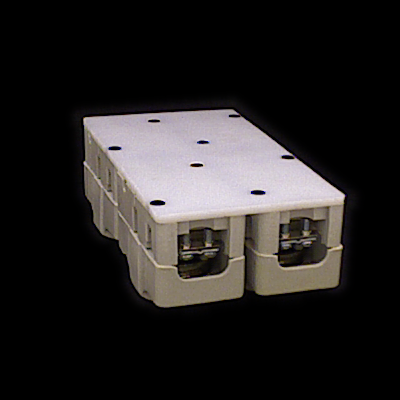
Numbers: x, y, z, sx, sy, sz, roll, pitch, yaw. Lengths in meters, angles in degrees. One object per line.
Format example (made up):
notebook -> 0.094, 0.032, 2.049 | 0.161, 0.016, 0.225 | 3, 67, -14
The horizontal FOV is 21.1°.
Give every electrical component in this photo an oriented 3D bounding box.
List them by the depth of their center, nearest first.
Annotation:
electrical component -> 0.000, 0.000, 0.639 | 0.105, 0.061, 0.183 | -6, 22, -17
